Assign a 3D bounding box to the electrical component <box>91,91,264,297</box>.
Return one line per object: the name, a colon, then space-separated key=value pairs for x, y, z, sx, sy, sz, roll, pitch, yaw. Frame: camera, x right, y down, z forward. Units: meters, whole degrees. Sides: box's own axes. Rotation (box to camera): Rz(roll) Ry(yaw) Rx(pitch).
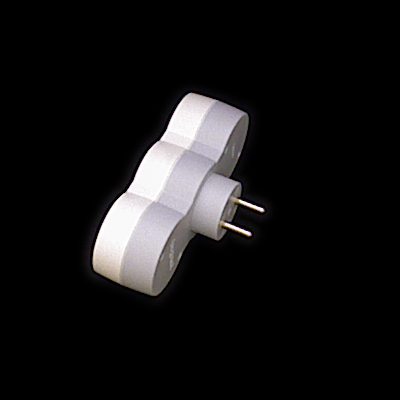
electrical component: x=0.000 y=0.000 z=0.633 sx=0.073 sy=0.138 sz=0.052 roll=22 pitch=-35 yaw=13
